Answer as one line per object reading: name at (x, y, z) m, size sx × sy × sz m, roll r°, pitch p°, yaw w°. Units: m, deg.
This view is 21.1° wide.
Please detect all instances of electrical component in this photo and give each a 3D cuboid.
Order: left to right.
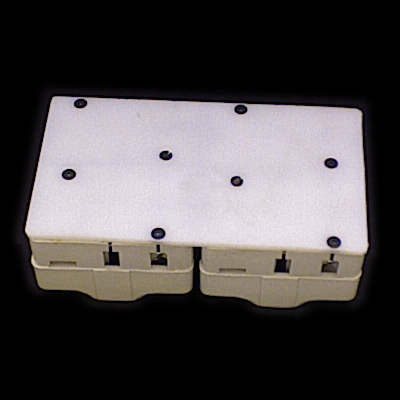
electrical component at (0.000, 0.000, 0.627) m, size 0.186 × 0.105 × 0.060 m, roll 3°, pitch -38°, yaw 1°
